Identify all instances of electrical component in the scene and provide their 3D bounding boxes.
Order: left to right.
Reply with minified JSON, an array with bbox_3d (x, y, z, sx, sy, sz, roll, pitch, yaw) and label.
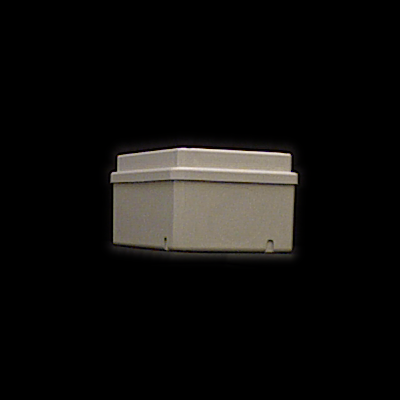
[{"bbox_3d":[0.000,0.000,0.648,0.078,0.057,0.112,1,0,-24],"label":"electrical component"}]
